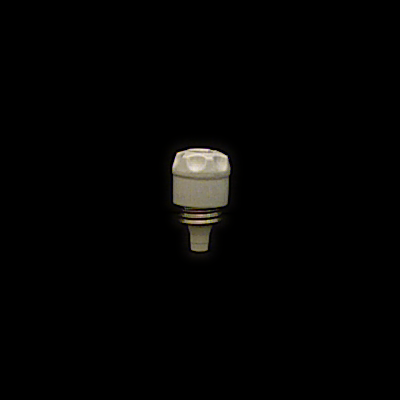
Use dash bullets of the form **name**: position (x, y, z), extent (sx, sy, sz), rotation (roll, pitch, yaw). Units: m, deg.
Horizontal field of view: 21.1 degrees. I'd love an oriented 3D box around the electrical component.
- **electrical component**: position (0.000, 0.000, 0.652), extent (0.035, 0.062, 0.035), rotation (1, 12, 0)
